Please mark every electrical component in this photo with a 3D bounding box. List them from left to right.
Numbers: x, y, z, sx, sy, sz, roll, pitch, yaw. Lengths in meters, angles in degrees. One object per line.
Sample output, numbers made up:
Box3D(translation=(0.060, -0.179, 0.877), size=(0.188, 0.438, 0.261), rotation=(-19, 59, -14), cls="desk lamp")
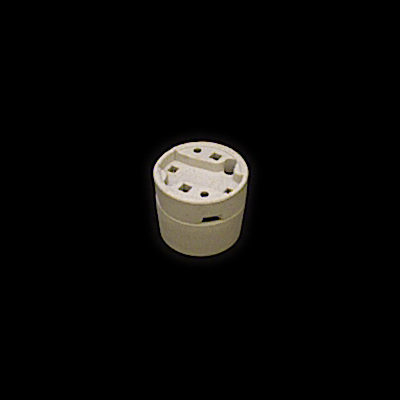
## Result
Box3D(translation=(0.000, 0.000, 0.636), size=(0.055, 0.047, 0.055), rotation=(1, 42, -1), cls="electrical component")
